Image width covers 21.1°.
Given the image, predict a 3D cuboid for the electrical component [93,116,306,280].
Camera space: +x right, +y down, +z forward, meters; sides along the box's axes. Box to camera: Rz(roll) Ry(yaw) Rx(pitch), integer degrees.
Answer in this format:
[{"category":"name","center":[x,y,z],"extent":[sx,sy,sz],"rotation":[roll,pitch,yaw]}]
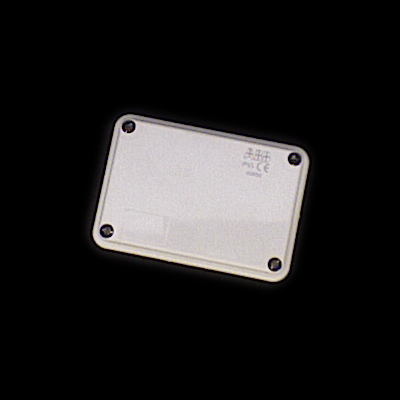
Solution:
[{"category":"electrical component","center":[0.000,0.000,0.628],"extent":[0.113,0.078,0.057],"rotation":[11,-6,2]}]
